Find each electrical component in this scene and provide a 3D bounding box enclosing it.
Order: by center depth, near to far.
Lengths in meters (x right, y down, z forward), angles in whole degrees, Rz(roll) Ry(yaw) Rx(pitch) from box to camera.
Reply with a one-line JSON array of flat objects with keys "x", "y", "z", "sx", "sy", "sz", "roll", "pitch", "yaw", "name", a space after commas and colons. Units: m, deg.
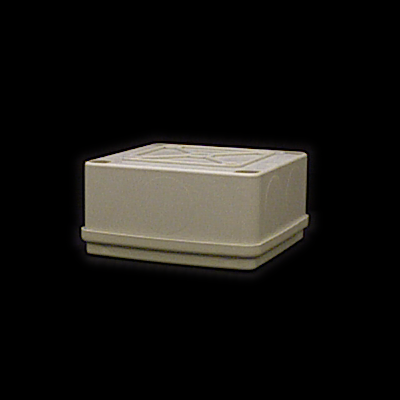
[{"x": 0.000, "y": 0.000, "z": 0.642, "sx": 0.108, "sy": 0.056, "sz": 0.108, "roll": 5, "pitch": 11, "yaw": 20, "name": "electrical component"}]
